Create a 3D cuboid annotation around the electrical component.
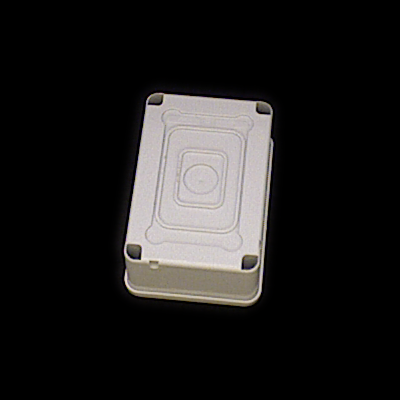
[{"bbox_3d":[0.000,0.000,0.628,0.078,0.113,0.057,5,-27,3],"label":"electrical component"}]
